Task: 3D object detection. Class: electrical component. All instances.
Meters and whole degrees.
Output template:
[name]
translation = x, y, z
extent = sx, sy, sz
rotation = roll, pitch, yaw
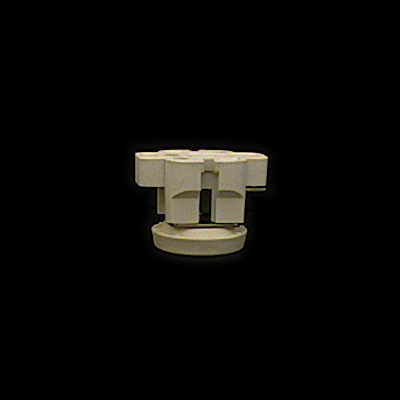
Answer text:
[electrical component]
translation = 0.000, 0.000, 0.653
extent = 0.079, 0.057, 0.057
rotation = 0, 11, -13
